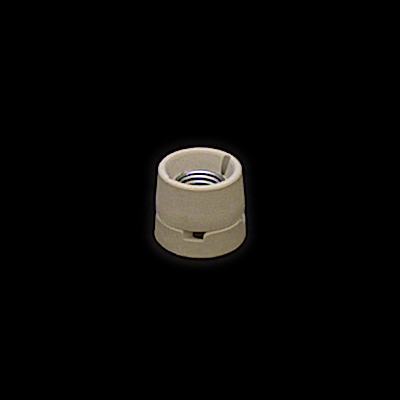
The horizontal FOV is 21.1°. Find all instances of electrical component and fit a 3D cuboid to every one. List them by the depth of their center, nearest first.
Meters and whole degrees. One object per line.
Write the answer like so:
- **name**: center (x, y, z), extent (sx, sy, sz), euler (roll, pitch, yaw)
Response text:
- **electrical component**: center (0.000, 0.000, 0.637), extent (0.055, 0.047, 0.055), euler (0, 32, 0)
